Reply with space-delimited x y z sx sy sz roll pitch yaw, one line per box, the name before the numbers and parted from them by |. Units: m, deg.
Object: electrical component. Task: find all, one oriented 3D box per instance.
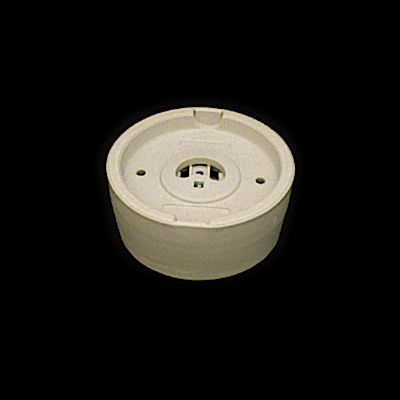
electrical component | 0.000 0.000 0.635 0.108 0.061 0.107 1 42 0
